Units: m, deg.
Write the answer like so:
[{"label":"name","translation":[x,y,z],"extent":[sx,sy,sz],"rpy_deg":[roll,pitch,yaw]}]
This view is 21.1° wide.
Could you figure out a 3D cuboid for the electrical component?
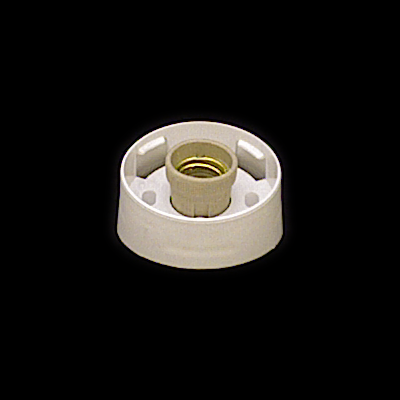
[{"label":"electrical component","translation":[0.000,0.000,0.629],"extent":[0.099,0.064,0.098],"rpy_deg":[1,41,0]}]
